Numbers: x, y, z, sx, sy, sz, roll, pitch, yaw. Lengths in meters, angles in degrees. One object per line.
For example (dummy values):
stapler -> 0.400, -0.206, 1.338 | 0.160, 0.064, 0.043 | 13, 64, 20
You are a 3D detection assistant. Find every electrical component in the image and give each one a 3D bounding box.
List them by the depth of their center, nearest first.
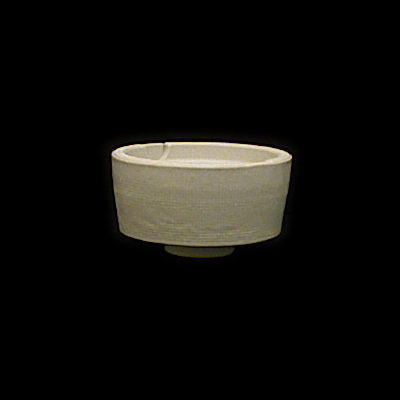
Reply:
electrical component -> 0.000, 0.000, 0.650 | 0.108, 0.061, 0.107 | 1, 11, 0
